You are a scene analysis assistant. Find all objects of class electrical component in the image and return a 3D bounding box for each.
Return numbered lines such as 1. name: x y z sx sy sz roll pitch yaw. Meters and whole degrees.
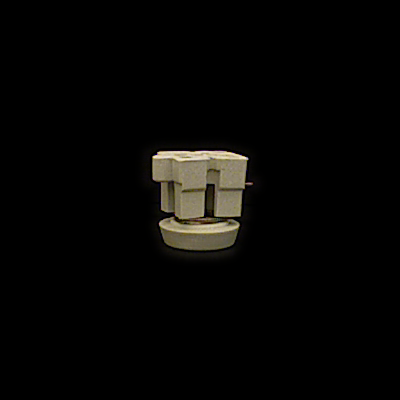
1. electrical component: 0.000 0.000 0.650 0.067 0.056 0.048 -3 11 -24
